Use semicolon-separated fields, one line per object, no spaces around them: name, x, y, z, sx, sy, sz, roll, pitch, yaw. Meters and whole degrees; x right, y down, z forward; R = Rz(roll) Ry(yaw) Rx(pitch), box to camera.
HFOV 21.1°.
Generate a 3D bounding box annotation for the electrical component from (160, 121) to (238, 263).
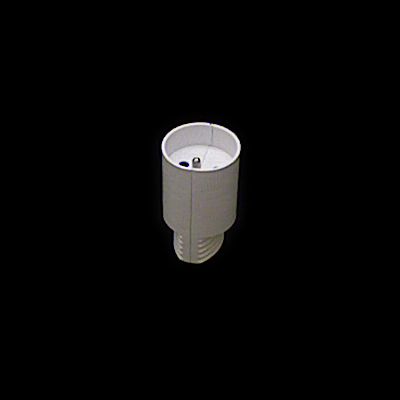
electrical component;0.000;0.000;0.621;0.043;0.082;0.042;0;42;0
